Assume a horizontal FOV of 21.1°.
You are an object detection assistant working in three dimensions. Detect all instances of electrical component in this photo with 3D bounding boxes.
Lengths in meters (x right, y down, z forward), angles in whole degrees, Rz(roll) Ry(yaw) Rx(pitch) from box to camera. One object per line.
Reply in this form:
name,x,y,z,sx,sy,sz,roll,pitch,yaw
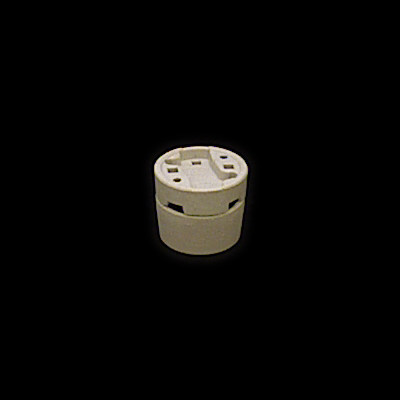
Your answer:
electrical component,0.000,0.000,0.639,0.055,0.047,0.055,1,32,0
